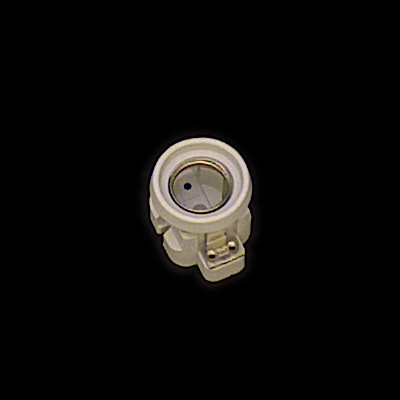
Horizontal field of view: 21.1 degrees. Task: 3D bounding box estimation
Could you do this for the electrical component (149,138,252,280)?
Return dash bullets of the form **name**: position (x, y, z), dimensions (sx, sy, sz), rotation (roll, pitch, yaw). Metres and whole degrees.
- **electrical component**: position (0.000, 0.000, 0.628), dimensions (0.058, 0.078, 0.057), rotation (-22, -25, -11)
